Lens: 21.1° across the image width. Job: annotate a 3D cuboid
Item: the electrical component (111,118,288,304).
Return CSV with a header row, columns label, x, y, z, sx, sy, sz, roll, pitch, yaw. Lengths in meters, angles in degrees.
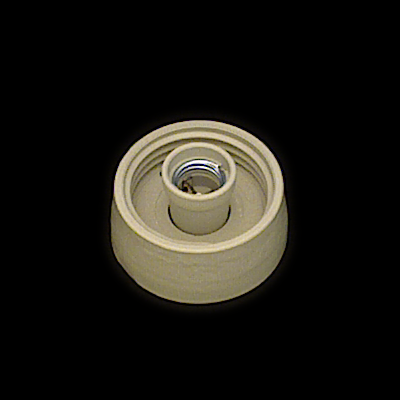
label,x,y,z,sx,sy,sz,roll,pitch,yaw
electrical component,0.000,0.000,0.634,0.108,0.107,0.060,0,-37,-1
